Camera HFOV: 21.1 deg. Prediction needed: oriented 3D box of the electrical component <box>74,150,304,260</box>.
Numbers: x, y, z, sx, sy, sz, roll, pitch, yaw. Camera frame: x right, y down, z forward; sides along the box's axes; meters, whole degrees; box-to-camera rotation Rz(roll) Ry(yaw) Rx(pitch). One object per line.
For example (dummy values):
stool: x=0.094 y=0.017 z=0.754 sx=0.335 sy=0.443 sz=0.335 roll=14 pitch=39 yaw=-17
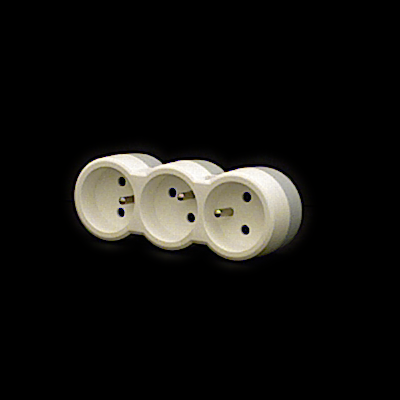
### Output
electrical component: x=0.000 y=0.000 z=0.654 sx=0.137 sy=0.052 sz=0.074 roll=7 pitch=12 yaw=29
